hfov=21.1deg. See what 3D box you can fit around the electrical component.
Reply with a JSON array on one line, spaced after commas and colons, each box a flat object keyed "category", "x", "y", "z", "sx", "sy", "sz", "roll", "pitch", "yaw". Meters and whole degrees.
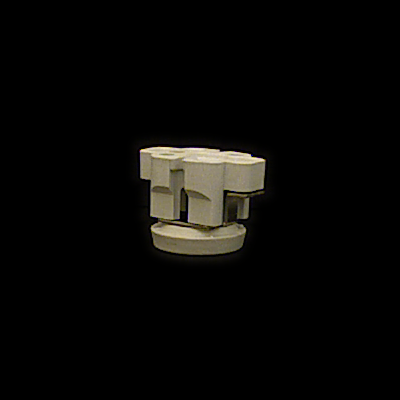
[{"category": "electrical component", "x": 0.000, "y": 0.000, "z": 0.652, "sx": 0.078, "sy": 0.057, "sz": 0.058, "roll": 9, "pitch": 13, "yaw": 30}]
